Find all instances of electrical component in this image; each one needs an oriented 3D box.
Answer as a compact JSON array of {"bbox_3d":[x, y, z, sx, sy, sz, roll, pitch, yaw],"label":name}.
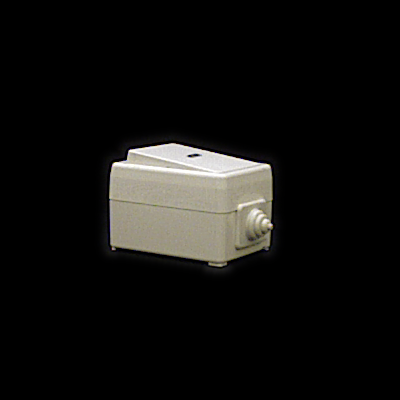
[{"bbox_3d":[0.000,0.000,0.643,0.096,0.061,0.061,7,12,31],"label":"electrical component"}]
